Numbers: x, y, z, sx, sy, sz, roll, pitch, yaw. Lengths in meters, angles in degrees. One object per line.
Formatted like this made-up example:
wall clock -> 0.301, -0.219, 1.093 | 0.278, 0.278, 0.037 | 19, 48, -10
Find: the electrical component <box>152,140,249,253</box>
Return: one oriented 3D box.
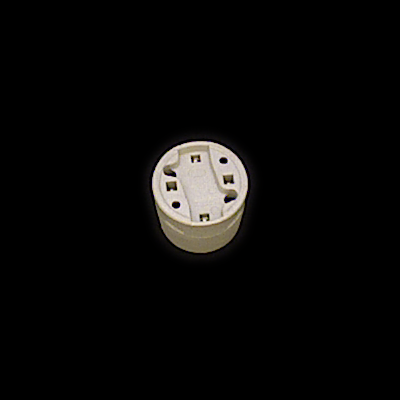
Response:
electrical component -> 0.000, 0.000, 0.633 | 0.055, 0.056, 0.047 | 0, -27, 0
